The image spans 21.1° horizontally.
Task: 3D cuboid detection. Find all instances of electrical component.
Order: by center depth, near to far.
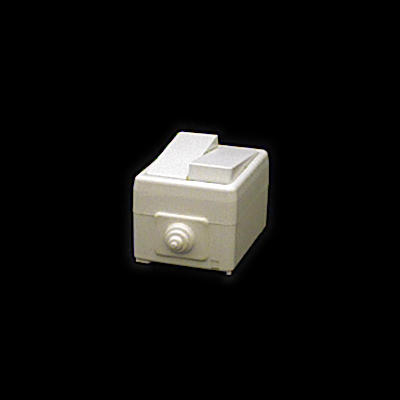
[{"bbox_3d":[0.000,0.000,0.636,0.061,0.061,0.095,7,21,16],"label":"electrical component"}]
